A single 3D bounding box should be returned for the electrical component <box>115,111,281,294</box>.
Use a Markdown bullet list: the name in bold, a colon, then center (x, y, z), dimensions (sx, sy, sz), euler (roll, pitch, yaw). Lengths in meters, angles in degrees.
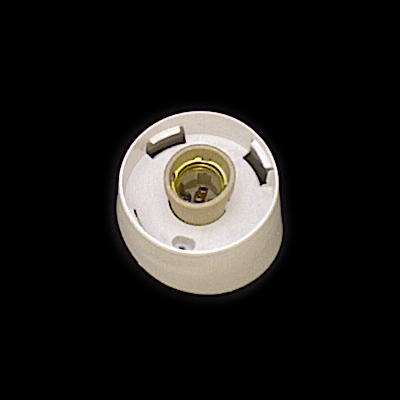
- **electrical component**: center (0.000, 0.000, 0.625), dimensions (0.099, 0.099, 0.064), euler (0, -27, -1)
